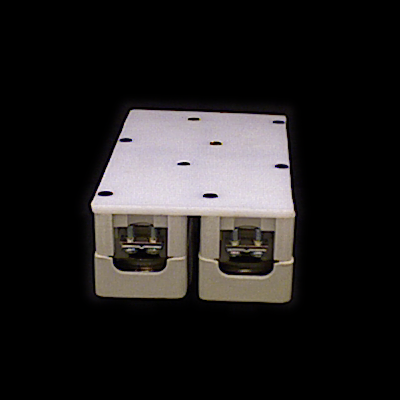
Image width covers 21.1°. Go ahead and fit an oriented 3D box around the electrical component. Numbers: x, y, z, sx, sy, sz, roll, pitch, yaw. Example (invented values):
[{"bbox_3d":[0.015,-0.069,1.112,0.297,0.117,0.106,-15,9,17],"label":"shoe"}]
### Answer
[{"bbox_3d":[0.000,0.000,0.638,0.105,0.061,0.184,2,20,2],"label":"electrical component"}]
